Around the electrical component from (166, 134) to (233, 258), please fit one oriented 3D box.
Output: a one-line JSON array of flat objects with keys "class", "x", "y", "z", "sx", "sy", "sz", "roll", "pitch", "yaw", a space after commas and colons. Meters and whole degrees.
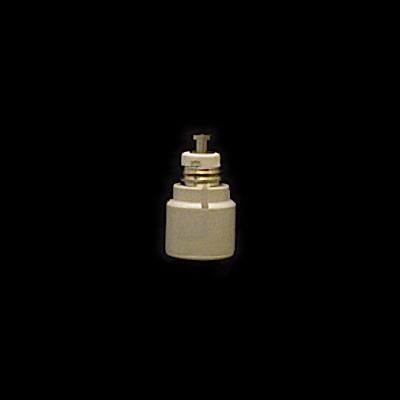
[{"class": "electrical component", "x": 0.000, "y": 0.000, "z": 0.641, "sx": 0.040, "sy": 0.079, "sz": 0.040, "roll": 1, "pitch": 10, "yaw": 0}]
